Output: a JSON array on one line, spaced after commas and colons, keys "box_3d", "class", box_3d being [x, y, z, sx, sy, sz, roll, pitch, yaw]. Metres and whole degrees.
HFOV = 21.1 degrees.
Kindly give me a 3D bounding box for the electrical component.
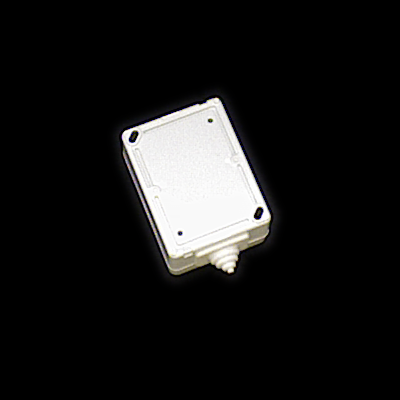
[{"box_3d": [0.000, 0.000, 0.624, 0.062, 0.097, 0.060, -21, -16, -7], "class": "electrical component"}]
